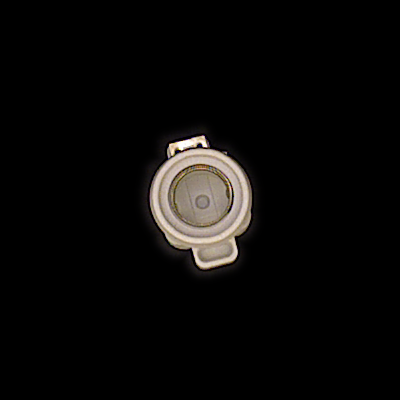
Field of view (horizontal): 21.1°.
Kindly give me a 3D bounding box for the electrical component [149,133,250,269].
[{"bbox_3d":[0.000,0.000,0.630,0.058,0.078,0.056,-15,-6,-1],"label":"electrical component"}]
